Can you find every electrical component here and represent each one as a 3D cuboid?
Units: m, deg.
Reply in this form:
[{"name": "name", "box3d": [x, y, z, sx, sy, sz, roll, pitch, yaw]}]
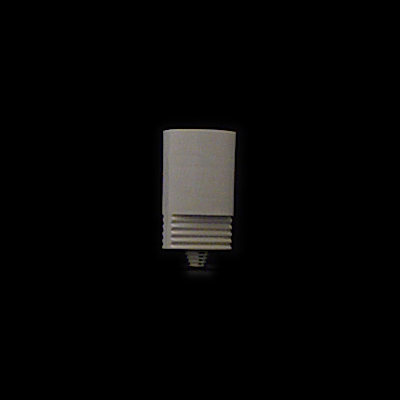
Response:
[{"name": "electrical component", "box3d": [0.000, 0.000, 0.646, 0.043, 0.081, 0.043, 0, 1, 0]}]
